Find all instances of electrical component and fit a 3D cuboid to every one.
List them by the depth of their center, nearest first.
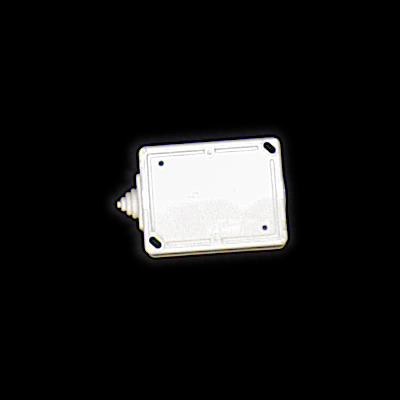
[{"bbox_3d":[0.000,0.000,0.626,0.096,0.062,0.061,-4,-6,0],"label":"electrical component"}]
